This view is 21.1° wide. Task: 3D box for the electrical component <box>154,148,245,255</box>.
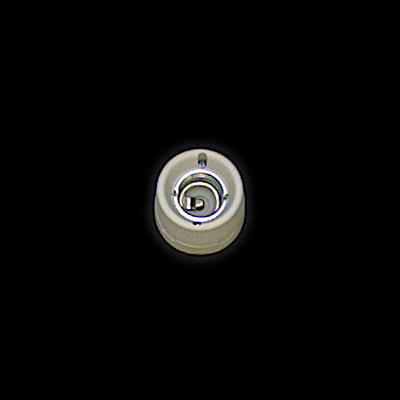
[{"bbox_3d":[0.000,0.000,0.633,0.055,0.056,0.047,0,-18,0],"label":"electrical component"}]
